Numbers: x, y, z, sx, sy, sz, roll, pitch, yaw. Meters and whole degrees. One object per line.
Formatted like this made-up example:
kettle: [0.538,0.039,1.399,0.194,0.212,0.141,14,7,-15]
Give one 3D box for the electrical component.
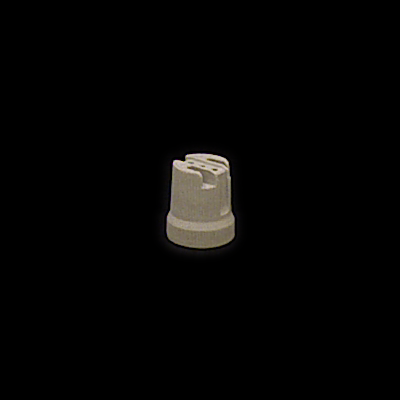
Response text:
electrical component: [0.000,0.000,0.640,0.040,0.046,0.040,0,22,0]
